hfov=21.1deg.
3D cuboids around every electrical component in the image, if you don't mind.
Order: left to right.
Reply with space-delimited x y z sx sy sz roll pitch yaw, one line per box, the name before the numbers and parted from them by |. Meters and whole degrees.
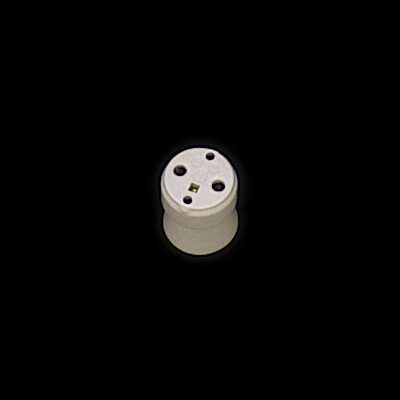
electrical component | 0.000 0.000 0.629 0.045 0.045 0.055 0 -27 0
